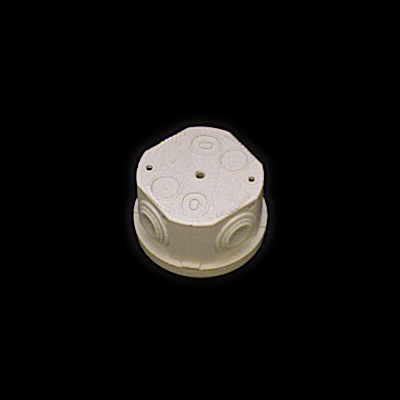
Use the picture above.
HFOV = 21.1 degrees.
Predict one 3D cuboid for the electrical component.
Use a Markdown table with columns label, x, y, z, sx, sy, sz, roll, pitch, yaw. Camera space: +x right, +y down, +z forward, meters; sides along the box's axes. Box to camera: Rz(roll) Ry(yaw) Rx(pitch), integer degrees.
| label | x | y | z | sx | sy | sz | roll | pitch | yaw |
| --- | --- | --- | --- | --- | --- | --- | --- | --- | --- |
| electrical component | 0.000 | 0.000 | 0.632 | 0.080 | 0.080 | 0.051 | 0 | -38 | 0 |
